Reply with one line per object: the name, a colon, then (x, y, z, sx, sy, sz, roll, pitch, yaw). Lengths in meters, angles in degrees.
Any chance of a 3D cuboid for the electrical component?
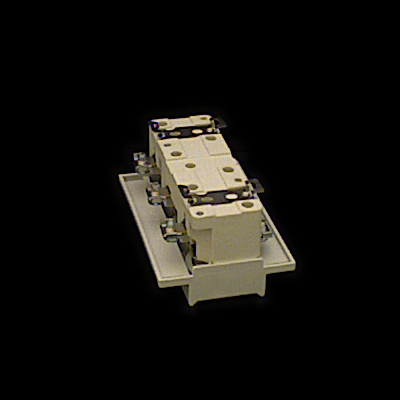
electrical component: (0.000, 0.000, 0.643, 0.079, 0.064, 0.119, -7, 33, -13)
